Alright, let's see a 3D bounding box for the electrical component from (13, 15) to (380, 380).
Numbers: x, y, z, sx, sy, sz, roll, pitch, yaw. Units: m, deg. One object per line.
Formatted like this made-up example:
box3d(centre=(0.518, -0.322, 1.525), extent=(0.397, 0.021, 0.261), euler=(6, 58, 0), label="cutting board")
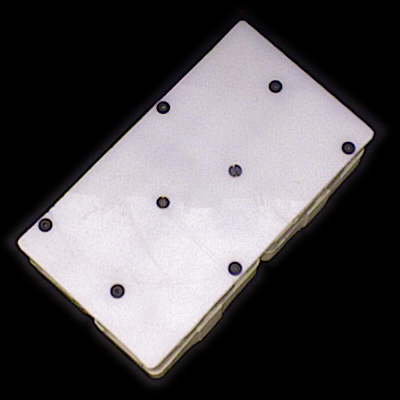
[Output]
box3d(centre=(0.000, 0.000, 0.625), extent=(0.105, 0.187, 0.060), euler=(42, -13, 11), label="electrical component")
